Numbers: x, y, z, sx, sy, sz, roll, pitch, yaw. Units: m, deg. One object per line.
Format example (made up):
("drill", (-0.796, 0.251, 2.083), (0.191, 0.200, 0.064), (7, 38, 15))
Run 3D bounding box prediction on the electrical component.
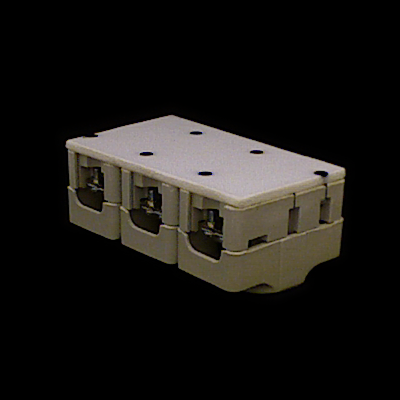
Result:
("electrical component", (0.000, 0.000, 0.645), (0.089, 0.063, 0.148), (-18, 28, -40))
